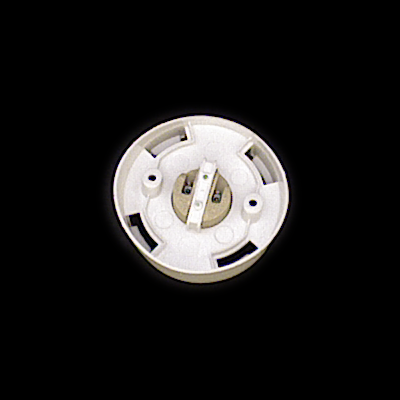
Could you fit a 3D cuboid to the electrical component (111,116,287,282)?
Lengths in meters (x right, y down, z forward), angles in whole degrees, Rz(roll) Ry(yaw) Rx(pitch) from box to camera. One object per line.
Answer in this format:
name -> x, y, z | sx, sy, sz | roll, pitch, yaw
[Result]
electrical component -> 0.000, 0.000, 0.623 | 0.099, 0.099, 0.064 | 0, -16, 0
